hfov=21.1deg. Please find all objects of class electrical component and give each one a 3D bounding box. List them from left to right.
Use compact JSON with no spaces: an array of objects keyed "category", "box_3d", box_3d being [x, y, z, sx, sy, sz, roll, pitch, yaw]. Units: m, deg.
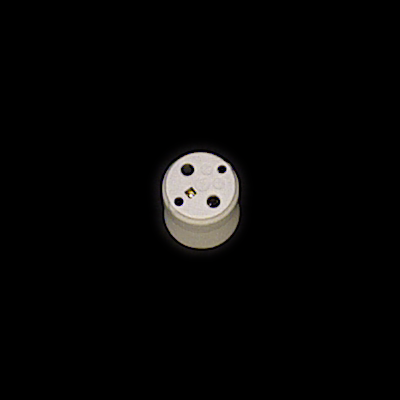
[{"category":"electrical component","box_3d":[0.000,0.000,0.629,0.045,0.045,0.055,0,-17,0]}]
